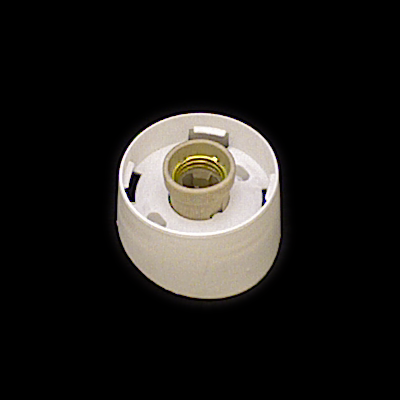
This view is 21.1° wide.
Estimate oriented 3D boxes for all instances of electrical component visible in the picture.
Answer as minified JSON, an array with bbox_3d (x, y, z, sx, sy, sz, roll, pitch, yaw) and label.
[{"bbox_3d":[0.000,0.000,0.627,0.099,0.098,0.064,0,-37,-1],"label":"electrical component"}]
